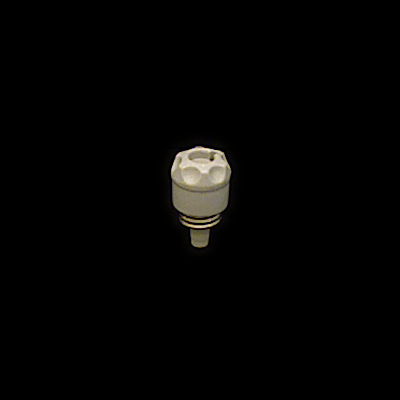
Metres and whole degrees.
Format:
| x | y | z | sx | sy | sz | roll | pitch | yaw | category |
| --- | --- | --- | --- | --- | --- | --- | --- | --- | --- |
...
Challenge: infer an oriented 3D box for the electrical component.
| x | y | z | sx | sy | sz | roll | pitch | yaw | category |
| --- | --- | --- | --- | --- | --- | --- | --- | --- | --- |
| 0.000 | 0.000 | 0.642 | 0.035 | 0.062 | 0.034 | 1 | 33 | 0 | electrical component |
